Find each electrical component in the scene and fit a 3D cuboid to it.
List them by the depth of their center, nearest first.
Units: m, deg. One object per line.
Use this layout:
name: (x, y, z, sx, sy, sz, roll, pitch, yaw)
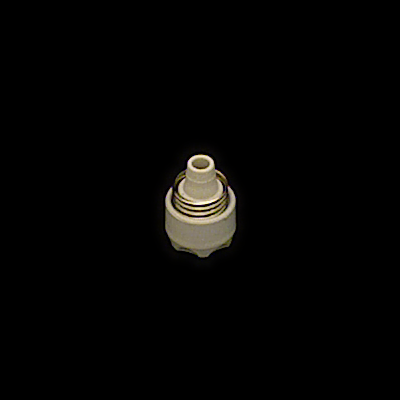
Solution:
electrical component: (0.000, 0.000, 0.637, 0.043, 0.062, 0.043, 0, 44, 0)
